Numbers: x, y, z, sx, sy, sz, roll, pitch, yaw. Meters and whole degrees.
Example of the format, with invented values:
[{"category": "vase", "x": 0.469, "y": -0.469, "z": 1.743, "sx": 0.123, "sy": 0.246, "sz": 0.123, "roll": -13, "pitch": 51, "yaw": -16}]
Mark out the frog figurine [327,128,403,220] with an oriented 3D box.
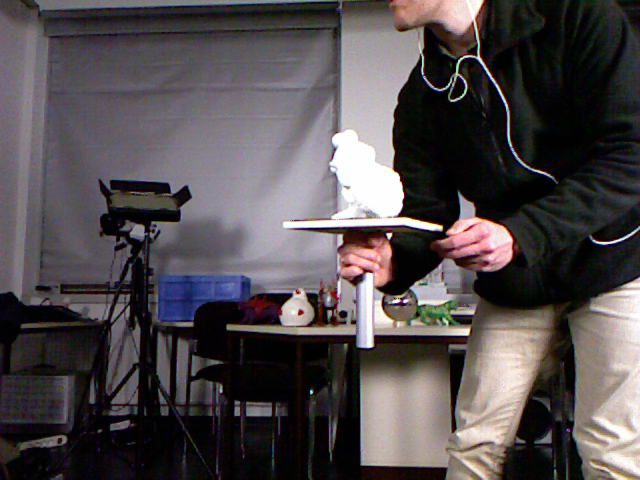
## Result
[{"category": "frog figurine", "x": 0.076, "y": -0.107, "z": 0.855, "sx": 0.138, "sy": 0.160, "sz": 0.123, "roll": -1, "pitch": 3, "yaw": -39}]
